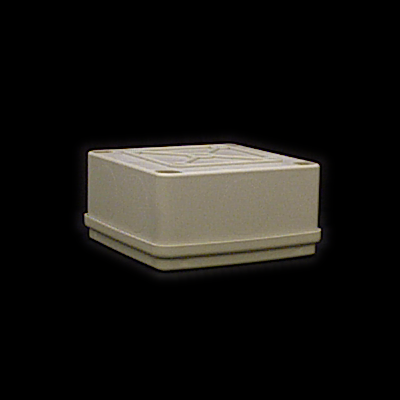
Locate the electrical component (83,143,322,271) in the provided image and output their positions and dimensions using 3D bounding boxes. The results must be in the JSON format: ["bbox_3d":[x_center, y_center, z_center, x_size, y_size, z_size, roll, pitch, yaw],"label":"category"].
[{"bbox_3d":[0.000,0.000,0.642,0.109,0.056,0.108,-5,12,-29],"label":"electrical component"}]
